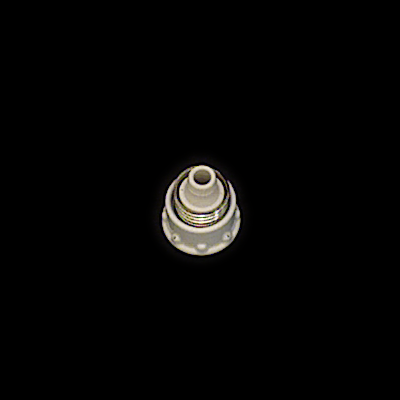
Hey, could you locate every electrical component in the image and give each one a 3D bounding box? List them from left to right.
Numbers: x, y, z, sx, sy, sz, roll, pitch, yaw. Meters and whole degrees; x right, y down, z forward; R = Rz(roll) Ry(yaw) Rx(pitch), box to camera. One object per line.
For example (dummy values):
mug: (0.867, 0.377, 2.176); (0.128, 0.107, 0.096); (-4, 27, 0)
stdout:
electrical component: (0.000, 0.000, 0.634); (0.048, 0.048, 0.062); (0, -27, -1)
